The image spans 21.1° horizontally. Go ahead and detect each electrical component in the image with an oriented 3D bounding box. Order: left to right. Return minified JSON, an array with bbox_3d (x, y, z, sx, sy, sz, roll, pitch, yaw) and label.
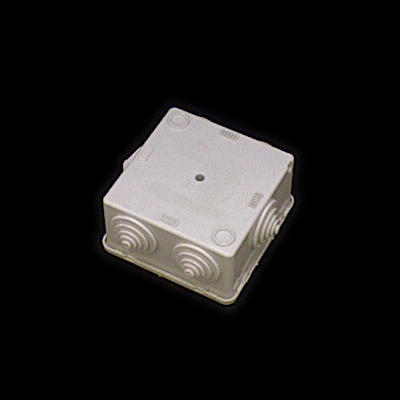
[{"bbox_3d":[0.000,0.000,0.632,0.099,0.099,0.049,23,-34,16],"label":"electrical component"}]
